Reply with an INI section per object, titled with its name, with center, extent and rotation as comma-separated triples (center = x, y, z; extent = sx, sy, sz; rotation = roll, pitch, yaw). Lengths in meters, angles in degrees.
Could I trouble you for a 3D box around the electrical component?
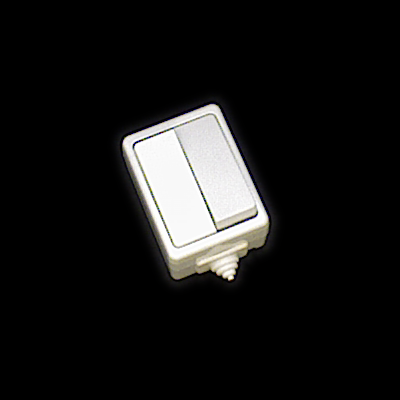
[electrical component]
center = 0.000, 0.000, 0.625
extent = 0.062, 0.097, 0.060
rotation = -21, -16, -6
